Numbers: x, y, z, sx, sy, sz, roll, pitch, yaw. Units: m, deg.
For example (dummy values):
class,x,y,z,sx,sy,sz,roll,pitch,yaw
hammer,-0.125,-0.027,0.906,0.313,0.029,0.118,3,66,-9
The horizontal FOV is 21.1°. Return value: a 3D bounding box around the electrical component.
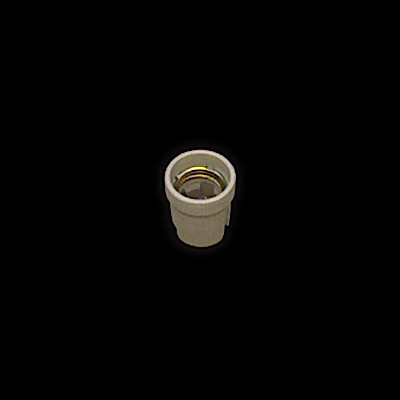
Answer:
class,x,y,z,sx,sy,sz,roll,pitch,yaw
electrical component,0.000,0.000,0.631,0.040,0.040,0.047,0,-38,-1
